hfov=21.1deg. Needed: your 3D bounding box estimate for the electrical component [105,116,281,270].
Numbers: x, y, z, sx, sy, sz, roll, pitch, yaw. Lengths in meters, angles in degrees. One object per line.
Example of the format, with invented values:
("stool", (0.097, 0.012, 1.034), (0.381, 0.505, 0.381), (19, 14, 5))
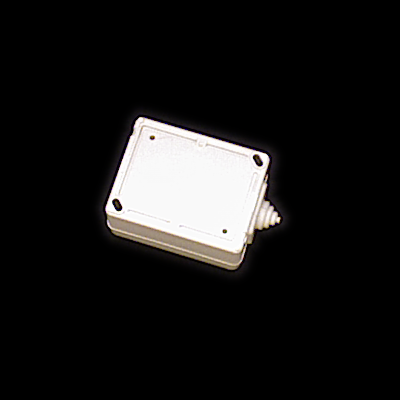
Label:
("electrical component", (0.000, 0.000, 0.627), (0.096, 0.062, 0.060), (17, -16, 4))
